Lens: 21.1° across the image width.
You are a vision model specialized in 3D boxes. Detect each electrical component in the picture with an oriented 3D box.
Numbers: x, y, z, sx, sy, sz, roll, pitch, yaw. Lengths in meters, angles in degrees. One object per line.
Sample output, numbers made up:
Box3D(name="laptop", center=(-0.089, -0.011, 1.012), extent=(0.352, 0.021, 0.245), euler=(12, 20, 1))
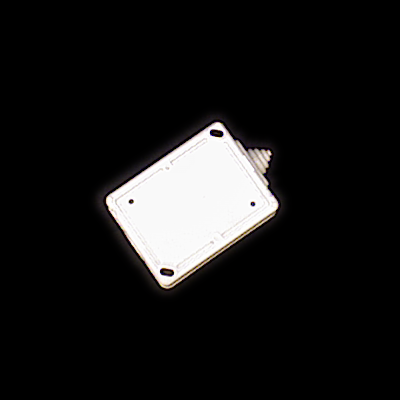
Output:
Box3D(name="electrical component", center=(0.000, 0.000, 0.629), extent=(0.096, 0.062, 0.061), euler=(-35, -6, -4))
